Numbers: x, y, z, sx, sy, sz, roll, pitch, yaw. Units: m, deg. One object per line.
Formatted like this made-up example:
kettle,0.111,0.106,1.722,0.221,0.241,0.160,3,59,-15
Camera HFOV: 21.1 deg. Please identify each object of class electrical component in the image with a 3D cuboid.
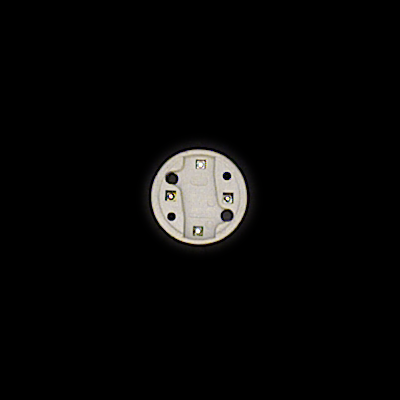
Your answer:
electrical component,0.000,0.000,0.635,0.055,0.055,0.047,0,-7,0
